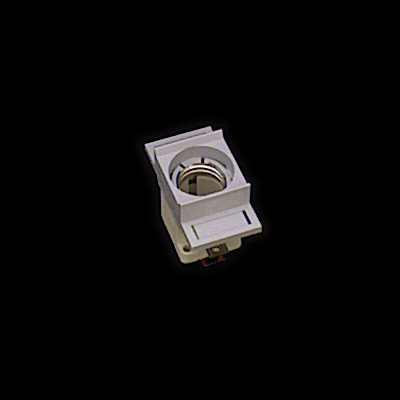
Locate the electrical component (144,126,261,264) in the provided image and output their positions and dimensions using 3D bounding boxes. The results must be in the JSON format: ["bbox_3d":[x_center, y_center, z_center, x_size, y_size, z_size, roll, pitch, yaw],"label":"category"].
[{"bbox_3d":[0.000,0.000,0.624,0.042,0.080,0.064,-15,-36,-13],"label":"electrical component"}]
